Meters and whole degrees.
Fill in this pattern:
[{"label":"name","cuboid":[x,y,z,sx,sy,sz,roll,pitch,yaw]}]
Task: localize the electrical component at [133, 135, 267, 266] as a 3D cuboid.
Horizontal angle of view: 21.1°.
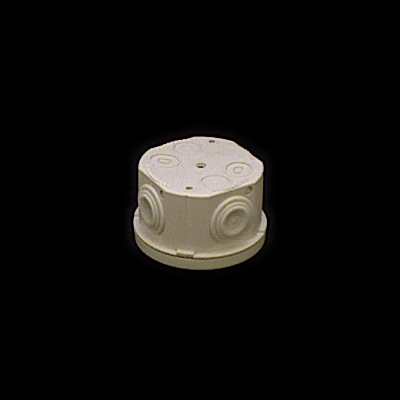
[{"label":"electrical component","cuboid":[0.000,0.000,0.638,0.080,0.051,0.079,1,31,0]}]
